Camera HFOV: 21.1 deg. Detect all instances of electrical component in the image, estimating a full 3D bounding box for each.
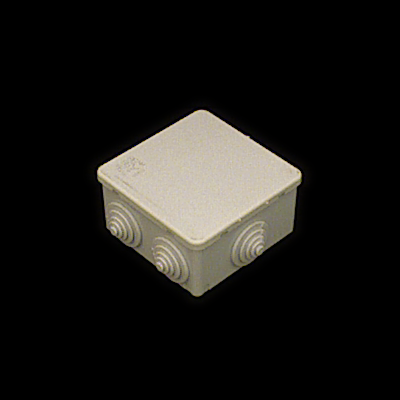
[{"bbox_3d":[0.000,0.000,0.641,0.100,0.049,0.098,-33,52,-31],"label":"electrical component"}]
